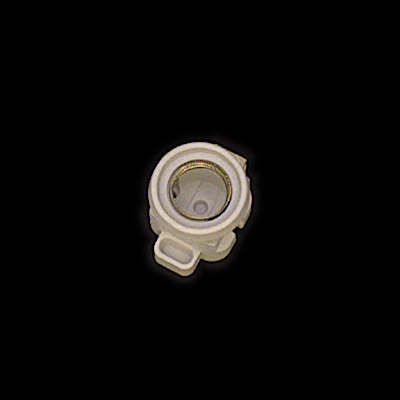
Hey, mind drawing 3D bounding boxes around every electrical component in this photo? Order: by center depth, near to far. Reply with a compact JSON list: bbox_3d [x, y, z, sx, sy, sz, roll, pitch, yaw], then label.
[{"bbox_3d":[0.000,0.000,0.629,0.058,0.079,0.056,27,-15,8],"label":"electrical component"}]
